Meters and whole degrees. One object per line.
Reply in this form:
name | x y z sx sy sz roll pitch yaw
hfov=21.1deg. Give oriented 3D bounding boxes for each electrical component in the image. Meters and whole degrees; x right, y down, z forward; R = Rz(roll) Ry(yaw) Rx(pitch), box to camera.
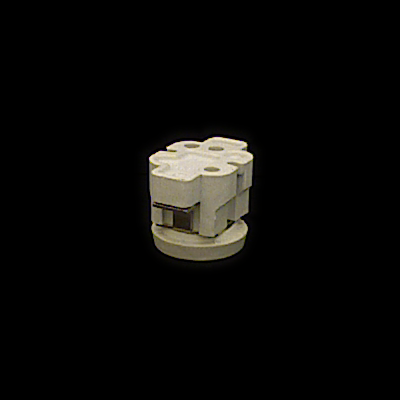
electrical component | 0.000 0.000 0.644 0.057 0.057 0.078 13 26 25
